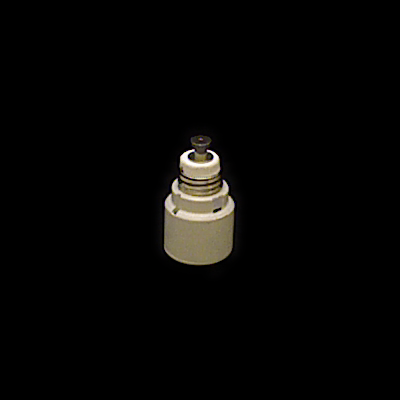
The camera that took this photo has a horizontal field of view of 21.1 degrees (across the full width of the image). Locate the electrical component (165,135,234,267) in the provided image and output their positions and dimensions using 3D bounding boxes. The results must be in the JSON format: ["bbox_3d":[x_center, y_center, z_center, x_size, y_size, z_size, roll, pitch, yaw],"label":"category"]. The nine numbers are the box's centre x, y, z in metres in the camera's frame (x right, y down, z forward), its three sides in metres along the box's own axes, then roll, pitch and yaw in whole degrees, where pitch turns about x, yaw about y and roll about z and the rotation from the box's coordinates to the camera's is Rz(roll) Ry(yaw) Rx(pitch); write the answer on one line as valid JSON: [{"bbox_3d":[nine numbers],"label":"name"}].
[{"bbox_3d":[0.000,0.000,0.629,0.040,0.079,0.039,1,30,0],"label":"electrical component"}]
